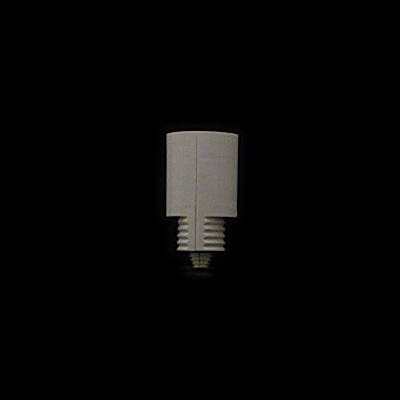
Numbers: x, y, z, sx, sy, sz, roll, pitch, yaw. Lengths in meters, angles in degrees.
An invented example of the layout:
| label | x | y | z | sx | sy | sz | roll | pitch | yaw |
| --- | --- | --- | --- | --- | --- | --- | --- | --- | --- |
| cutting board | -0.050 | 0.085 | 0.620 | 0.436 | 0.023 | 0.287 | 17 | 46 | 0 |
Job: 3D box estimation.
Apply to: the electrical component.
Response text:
| label | x | y | z | sx | sy | sz | roll | pitch | yaw |
| --- | --- | --- | --- | --- | --- | --- | --- | --- | --- |
| electrical component | 0.000 | 0.000 | 0.651 | 0.043 | 0.081 | 0.043 | 2 | 1 | 0 |
